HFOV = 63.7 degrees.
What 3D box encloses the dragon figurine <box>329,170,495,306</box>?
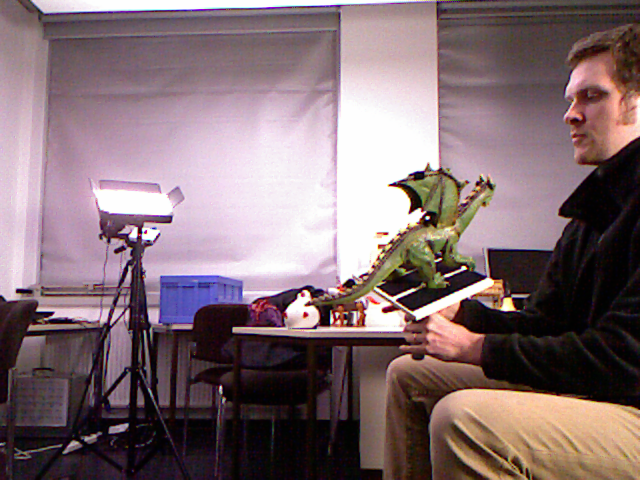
[{"bbox_3d":[0.194,-0.026,0.997,0.414,0.238,0.124,-19,33,-28],"label":"dragon figurine"}]
